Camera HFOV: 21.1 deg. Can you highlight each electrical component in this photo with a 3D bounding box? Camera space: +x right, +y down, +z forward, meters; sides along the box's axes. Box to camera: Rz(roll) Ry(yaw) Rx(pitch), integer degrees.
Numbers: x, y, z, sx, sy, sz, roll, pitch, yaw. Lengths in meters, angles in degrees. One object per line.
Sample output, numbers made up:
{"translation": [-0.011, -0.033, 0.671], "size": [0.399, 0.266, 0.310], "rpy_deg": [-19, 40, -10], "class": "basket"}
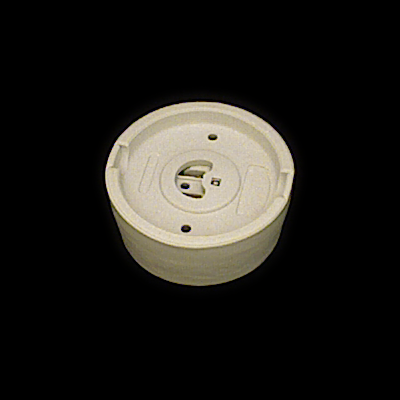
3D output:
{"translation": [0.000, 0.000, 0.636], "size": [0.108, 0.107, 0.060], "rpy_deg": [0, -37, 0], "class": "electrical component"}
